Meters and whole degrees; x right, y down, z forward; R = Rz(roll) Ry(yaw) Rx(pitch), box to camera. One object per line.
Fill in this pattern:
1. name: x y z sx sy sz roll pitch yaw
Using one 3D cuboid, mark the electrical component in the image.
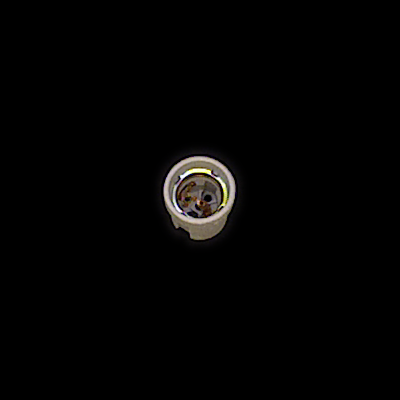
1. electrical component: 0.000 0.000 0.628 0.040 0.040 0.046 0 -17 -1
